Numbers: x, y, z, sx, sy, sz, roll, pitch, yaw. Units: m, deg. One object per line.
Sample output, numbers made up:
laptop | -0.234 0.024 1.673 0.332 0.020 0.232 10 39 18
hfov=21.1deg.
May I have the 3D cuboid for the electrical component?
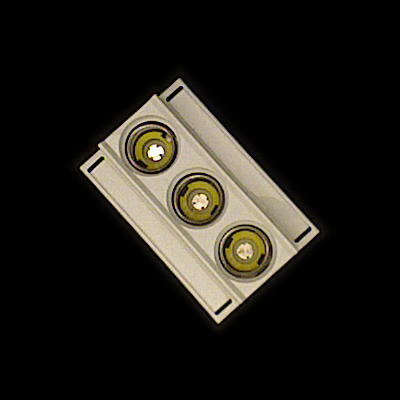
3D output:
electrical component | 0.000 0.000 0.637 0.079 0.121 0.063 -42 -5 -2
